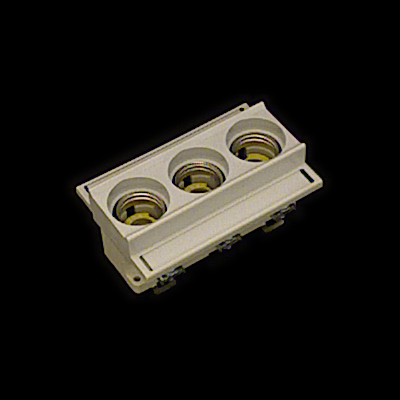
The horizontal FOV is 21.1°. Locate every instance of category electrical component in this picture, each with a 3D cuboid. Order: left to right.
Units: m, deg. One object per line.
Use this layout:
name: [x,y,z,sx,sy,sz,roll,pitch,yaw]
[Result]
electrical component: [0.000,0.000,0.639,0.121,0.078,0.063,-28,-34,-19]
